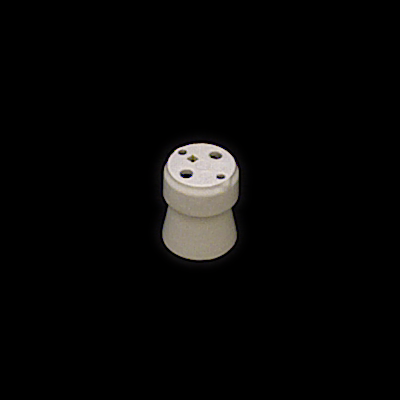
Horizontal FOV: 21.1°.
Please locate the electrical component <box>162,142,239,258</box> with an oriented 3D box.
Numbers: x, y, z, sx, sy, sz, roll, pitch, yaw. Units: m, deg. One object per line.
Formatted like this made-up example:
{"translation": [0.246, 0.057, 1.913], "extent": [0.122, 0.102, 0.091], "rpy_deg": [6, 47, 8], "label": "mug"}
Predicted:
{"translation": [0.000, 0.000, 0.633], "extent": [0.045, 0.056, 0.044], "rpy_deg": [1, 42, -1], "label": "electrical component"}
